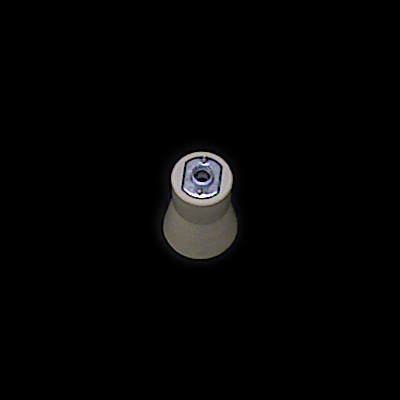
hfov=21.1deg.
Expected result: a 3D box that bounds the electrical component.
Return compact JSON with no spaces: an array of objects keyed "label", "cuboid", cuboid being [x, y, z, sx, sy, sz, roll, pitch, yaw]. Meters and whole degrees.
[{"label":"electrical component","cuboid":[0.000,0.000,0.624,0.044,0.044,0.065,0,-27,-1]}]
